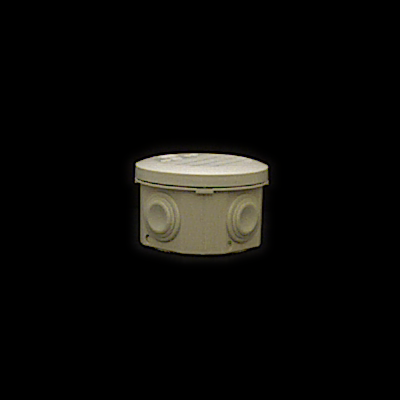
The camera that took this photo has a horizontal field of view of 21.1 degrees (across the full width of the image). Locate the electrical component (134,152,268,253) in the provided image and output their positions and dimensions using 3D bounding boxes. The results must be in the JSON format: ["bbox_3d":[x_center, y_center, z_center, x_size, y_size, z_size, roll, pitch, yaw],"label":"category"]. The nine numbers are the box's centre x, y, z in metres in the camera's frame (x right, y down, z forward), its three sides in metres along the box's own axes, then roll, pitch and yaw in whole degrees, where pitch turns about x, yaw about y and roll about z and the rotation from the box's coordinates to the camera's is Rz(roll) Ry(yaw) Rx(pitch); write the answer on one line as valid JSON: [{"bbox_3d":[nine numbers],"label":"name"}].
[{"bbox_3d":[0.000,0.000,0.647,0.080,0.051,0.079,1,10,0],"label":"electrical component"}]
